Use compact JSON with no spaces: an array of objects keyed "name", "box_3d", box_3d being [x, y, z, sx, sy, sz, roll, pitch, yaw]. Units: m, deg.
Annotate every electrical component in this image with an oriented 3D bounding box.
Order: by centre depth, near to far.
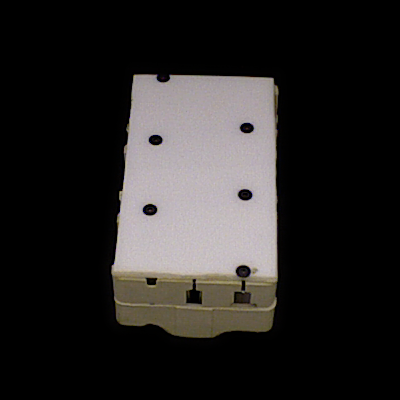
[{"name":"electrical component","box_3d":[0.000,0.000,0.635,0.089,0.147,0.063,2,-38,1]}]
